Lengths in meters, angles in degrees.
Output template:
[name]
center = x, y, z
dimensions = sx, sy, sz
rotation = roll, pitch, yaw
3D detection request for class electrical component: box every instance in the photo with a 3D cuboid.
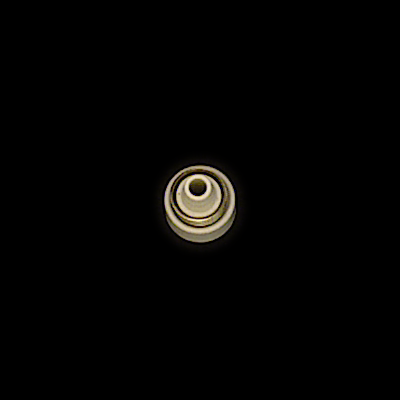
[electrical component]
center = 0.000, 0.000, 0.633
dimensions = 0.043, 0.043, 0.061
rotation = 0, -15, 1
